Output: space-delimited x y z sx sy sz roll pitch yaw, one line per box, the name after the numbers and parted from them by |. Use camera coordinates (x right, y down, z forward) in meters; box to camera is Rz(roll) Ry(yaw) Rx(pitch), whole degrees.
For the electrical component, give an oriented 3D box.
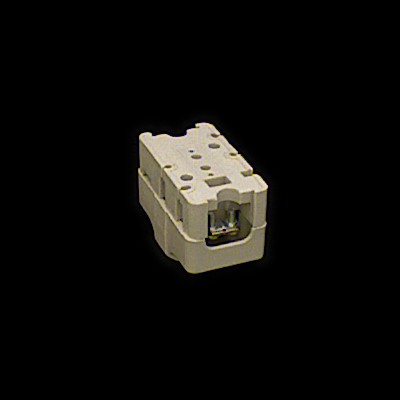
0.000 0.000 0.643 0.050 0.056 0.088 -11 35 -20 | electrical component
